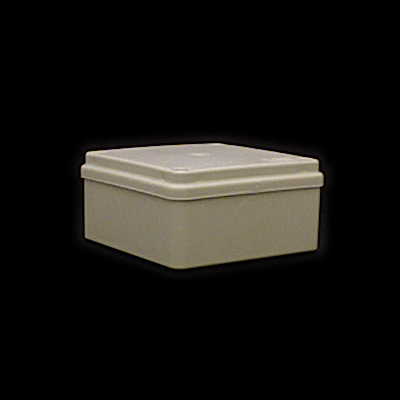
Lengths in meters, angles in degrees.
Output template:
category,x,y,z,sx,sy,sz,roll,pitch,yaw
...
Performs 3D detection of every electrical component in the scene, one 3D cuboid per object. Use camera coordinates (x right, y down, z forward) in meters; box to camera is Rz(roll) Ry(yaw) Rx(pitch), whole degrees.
category,x,y,z,sx,sy,sz,roll,pitch,yaw
electrical component,0.000,0.000,0.645,0.109,0.056,0.107,-6,12,-35
